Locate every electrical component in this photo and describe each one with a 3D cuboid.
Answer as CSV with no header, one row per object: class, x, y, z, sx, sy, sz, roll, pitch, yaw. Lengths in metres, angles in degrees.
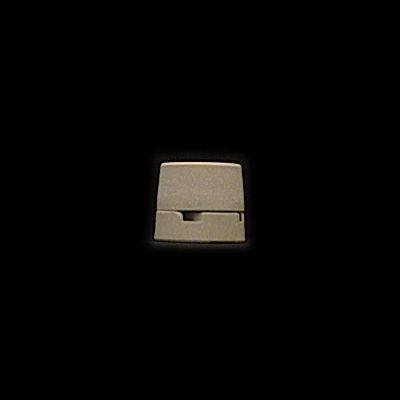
electrical component,0.000,0.000,0.652,0.055,0.047,0.055,1,0,0
